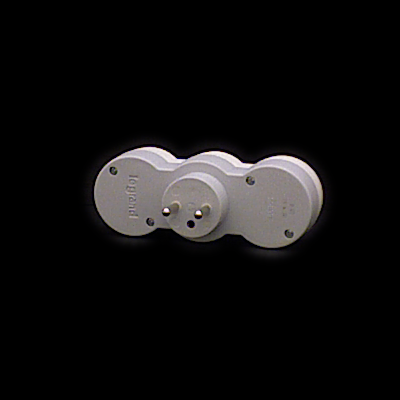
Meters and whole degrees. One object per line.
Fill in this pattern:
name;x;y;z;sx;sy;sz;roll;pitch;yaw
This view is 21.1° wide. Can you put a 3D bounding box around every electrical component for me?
electrical component;0.000;0.000;0.645;0.138;0.052;0.073;5;13;16
